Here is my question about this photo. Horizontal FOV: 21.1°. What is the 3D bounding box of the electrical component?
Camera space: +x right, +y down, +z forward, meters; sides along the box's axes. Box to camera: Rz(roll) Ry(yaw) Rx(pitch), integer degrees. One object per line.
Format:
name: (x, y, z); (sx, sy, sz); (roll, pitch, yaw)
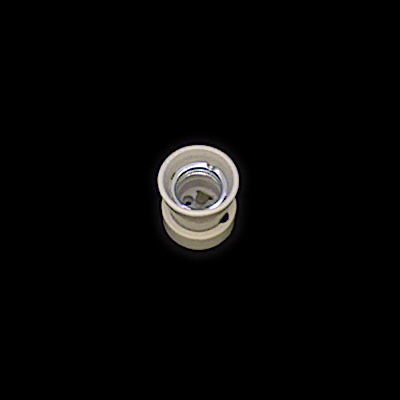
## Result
electrical component: (0.000, 0.000, 0.627); (0.045, 0.045, 0.055); (0, -27, 0)
